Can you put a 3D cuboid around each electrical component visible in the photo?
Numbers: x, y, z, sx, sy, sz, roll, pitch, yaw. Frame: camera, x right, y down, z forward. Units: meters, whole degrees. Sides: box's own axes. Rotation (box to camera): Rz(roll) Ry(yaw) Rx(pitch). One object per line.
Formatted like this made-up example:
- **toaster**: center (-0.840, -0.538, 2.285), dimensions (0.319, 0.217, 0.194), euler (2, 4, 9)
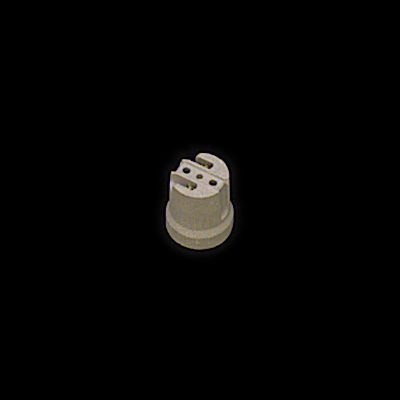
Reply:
- **electrical component**: center (0.000, 0.000, 0.634), dimensions (0.040, 0.040, 0.046), euler (0, -37, -1)
